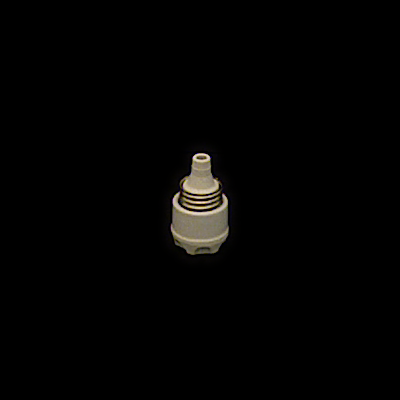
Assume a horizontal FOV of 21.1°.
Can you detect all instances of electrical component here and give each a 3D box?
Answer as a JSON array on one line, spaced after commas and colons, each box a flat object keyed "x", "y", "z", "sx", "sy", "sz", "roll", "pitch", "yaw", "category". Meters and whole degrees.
[{"x": 0.000, "y": 0.000, "z": 0.646, "sx": 0.035, "sy": 0.062, "sz": 0.034, "roll": 2, "pitch": 31, "yaw": -1, "category": "electrical component"}]
